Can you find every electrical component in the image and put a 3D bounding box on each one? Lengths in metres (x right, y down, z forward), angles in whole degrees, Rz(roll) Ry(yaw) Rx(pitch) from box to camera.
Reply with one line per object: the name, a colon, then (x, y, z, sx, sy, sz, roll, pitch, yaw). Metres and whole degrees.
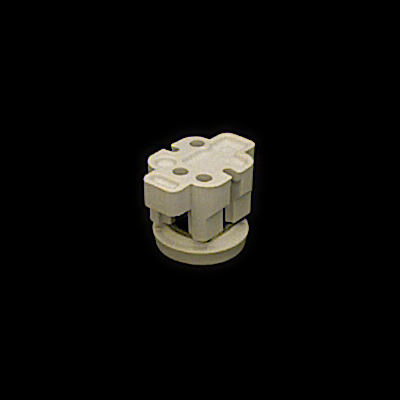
electrical component: (0.000, 0.000, 0.644, 0.057, 0.057, 0.078, 22, 37, 31)
